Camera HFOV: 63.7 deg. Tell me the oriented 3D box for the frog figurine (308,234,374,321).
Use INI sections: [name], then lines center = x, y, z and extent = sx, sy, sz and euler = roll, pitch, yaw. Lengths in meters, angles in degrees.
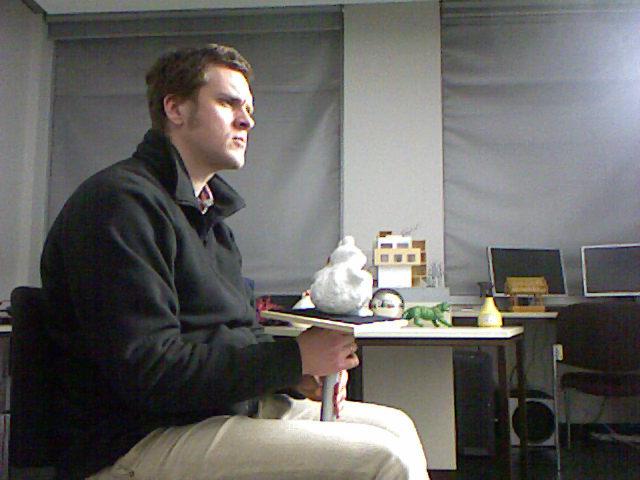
[frog figurine]
center = 0.044, 0.068, 0.983
extent = 0.122, 0.159, 0.137
euler = 6, 0, -35
